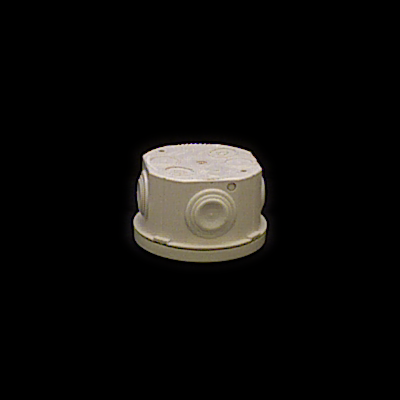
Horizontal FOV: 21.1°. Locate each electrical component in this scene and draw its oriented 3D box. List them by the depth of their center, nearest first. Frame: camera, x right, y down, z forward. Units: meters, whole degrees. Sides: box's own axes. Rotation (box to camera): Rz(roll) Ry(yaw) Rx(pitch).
[{"bbox_3d":[0.000,0.000,0.640,0.080,0.051,0.079,2,21,0],"label":"electrical component"}]
